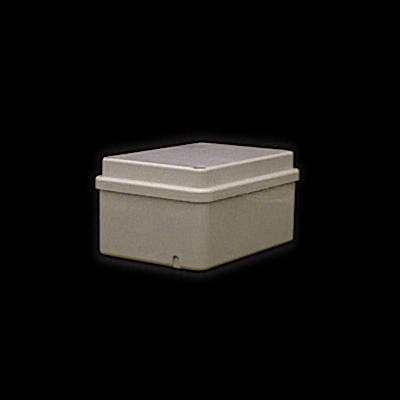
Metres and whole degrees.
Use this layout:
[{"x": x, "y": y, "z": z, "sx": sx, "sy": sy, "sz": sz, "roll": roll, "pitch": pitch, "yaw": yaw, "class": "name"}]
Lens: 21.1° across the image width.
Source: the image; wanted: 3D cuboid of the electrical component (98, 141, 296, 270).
[{"x": 0.000, "y": 0.000, "z": 0.645, "sx": 0.077, "sy": 0.057, "sz": 0.113, "roll": 8, "pitch": 12, "yaw": 32, "class": "electrical component"}]
